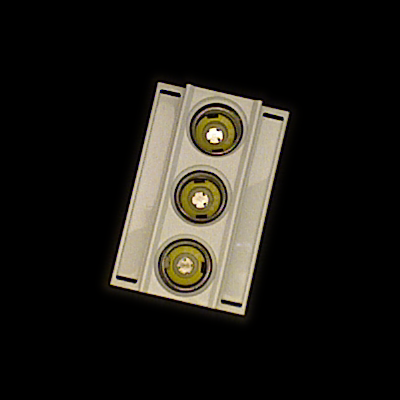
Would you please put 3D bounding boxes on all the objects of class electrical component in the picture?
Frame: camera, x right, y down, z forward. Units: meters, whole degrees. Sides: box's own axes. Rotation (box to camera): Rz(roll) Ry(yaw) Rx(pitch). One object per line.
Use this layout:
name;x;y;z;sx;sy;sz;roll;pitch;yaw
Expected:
electrical component;0.000;0.000;0.637;0.079;0.121;0.063;13;-6;0
